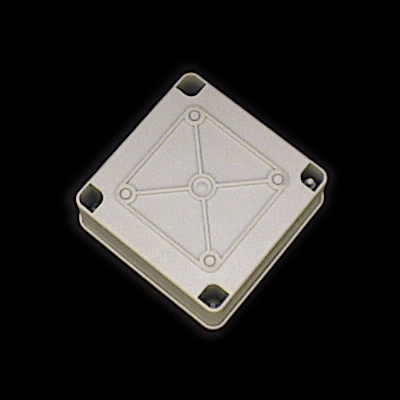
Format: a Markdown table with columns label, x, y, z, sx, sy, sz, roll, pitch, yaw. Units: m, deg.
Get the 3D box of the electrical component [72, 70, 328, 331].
| label | x | y | z | sx | sy | sz | roll | pitch | yaw |
| --- | --- | --- | --- | --- | --- | --- | --- | --- | --- |
| electrical component | 0.000 | 0.000 | 0.628 | 0.109 | 0.109 | 0.056 | 38 | -14 | 10 |
